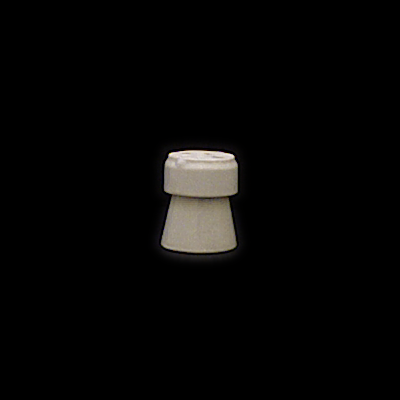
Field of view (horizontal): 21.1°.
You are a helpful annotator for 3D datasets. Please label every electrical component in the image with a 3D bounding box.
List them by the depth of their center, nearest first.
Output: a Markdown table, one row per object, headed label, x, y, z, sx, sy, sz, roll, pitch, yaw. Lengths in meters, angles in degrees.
| label | x | y | z | sx | sy | sz | roll | pitch | yaw |
| --- | --- | --- | --- | --- | --- | --- | --- | --- | --- |
| electrical component | 0.000 | 0.000 | 0.644 | 0.045 | 0.055 | 0.044 | 1 | 12 | 0 |
